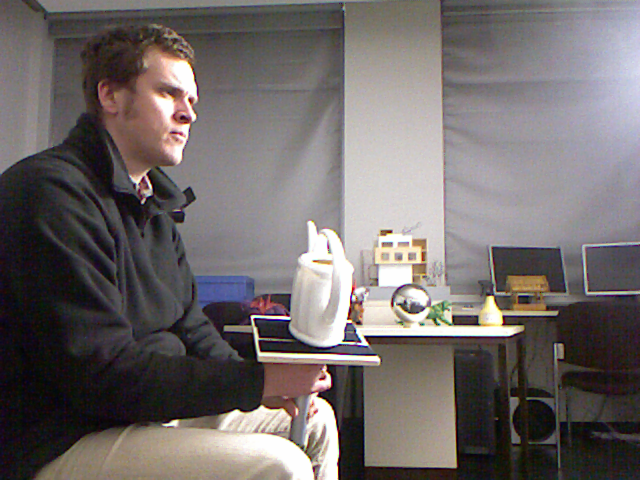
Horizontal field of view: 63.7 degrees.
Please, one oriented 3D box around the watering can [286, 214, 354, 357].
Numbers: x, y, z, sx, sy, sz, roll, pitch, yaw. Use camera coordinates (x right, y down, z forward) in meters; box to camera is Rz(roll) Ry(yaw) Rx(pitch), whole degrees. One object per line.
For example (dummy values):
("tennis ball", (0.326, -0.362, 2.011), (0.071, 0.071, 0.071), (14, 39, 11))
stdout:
("watering can", (-0.005, 0.074, 0.955), (0.104, 0.222, 0.351), (6, 12, -11))
